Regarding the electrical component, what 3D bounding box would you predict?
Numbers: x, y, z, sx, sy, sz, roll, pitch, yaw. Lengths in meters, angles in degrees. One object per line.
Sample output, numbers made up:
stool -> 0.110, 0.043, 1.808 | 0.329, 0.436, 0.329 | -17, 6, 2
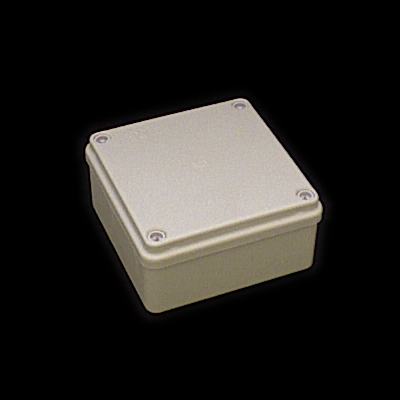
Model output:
electrical component -> 0.000, 0.000, 0.632 | 0.109, 0.056, 0.108 | -15, 45, -17
